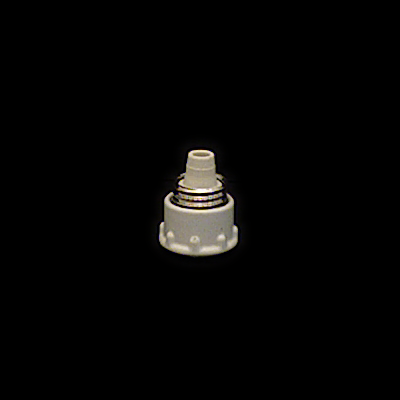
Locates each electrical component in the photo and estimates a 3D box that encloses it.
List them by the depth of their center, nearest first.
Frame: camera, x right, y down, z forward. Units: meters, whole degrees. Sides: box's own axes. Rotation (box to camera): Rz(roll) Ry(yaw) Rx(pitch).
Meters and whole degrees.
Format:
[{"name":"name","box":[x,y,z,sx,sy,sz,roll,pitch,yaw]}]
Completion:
[{"name":"electrical component","box":[0.000,0.000,0.645,0.048,0.063,0.047,2,23,0]}]
